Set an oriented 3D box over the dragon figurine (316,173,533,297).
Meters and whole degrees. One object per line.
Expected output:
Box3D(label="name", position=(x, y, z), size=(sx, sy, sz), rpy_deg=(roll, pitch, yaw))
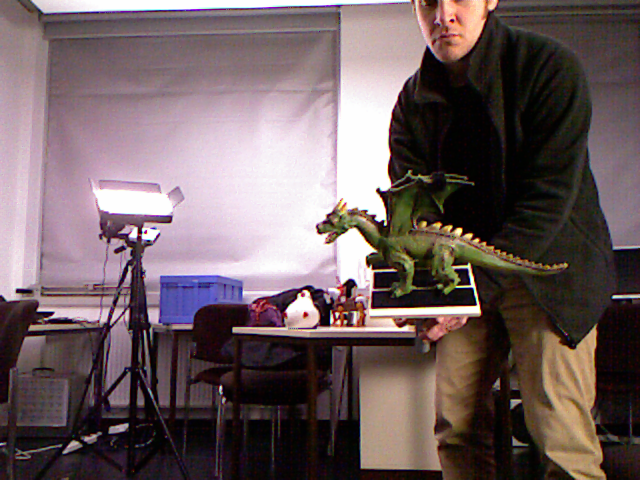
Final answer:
Box3D(label="dragon figurine", position=(0.199, -0.017, 0.959), size=(0.411, 0.237, 0.126), rpy_deg=(-5, 44, 4))
